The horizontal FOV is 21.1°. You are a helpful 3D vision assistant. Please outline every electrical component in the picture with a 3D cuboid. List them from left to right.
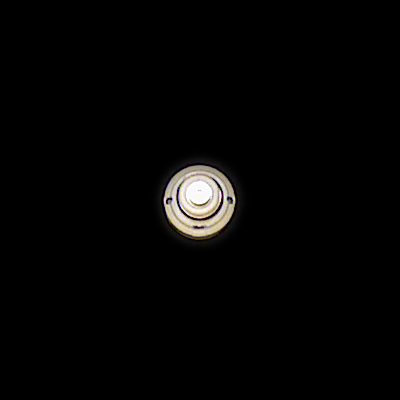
[{"bbox_3d":[0.000,0.000,0.618,0.040,0.040,0.078,0,-7,-1],"label":"electrical component"}]
